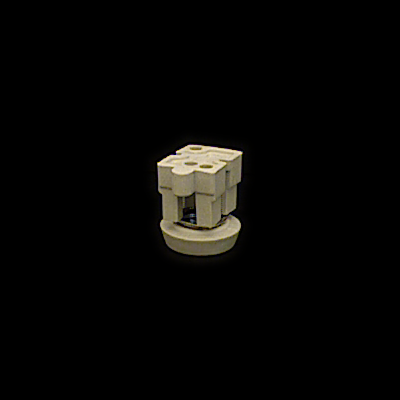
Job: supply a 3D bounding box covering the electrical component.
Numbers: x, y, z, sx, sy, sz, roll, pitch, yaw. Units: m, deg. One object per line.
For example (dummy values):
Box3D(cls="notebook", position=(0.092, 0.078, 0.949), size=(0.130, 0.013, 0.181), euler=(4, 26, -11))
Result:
Box3D(cls="electrical component", position=(0.000, 0.000, 0.646), size=(0.048, 0.056, 0.066), euler=(9, 22, 22))
